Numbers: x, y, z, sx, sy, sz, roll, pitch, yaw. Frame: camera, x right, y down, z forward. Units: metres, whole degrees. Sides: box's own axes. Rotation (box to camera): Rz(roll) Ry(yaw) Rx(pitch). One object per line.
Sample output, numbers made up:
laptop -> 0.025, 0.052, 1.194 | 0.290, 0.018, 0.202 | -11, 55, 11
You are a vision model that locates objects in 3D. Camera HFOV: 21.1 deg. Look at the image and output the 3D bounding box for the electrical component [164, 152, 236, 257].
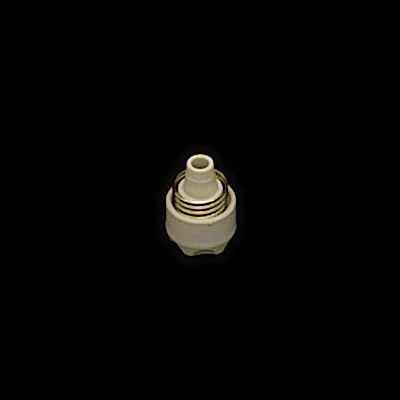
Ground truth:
electrical component -> 0.000, 0.000, 0.637 | 0.043, 0.062, 0.043 | 0, 43, 1
